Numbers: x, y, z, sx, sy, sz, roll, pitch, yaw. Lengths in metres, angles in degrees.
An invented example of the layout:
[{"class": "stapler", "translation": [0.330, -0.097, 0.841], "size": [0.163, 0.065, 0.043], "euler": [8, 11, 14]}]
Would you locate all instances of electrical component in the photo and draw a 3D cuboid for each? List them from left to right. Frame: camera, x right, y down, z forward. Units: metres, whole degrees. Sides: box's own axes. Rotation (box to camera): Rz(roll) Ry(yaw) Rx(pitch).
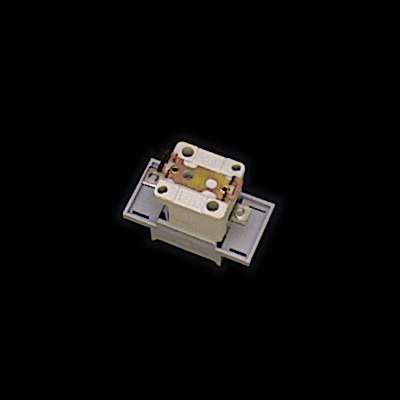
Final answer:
[{"class": "electrical component", "translation": [0.000, 0.000, 0.626], "size": [0.081, 0.042, 0.063], "euler": [20, -26, 10]}]
